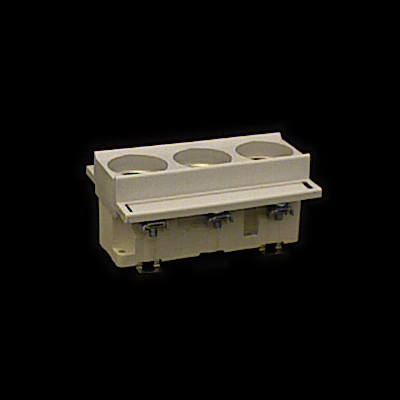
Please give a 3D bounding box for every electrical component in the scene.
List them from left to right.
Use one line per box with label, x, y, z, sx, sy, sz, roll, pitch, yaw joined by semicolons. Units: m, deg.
electrical component;0.000;0.000;0.651;0.121;0.064;0.077;-7;24;-20
